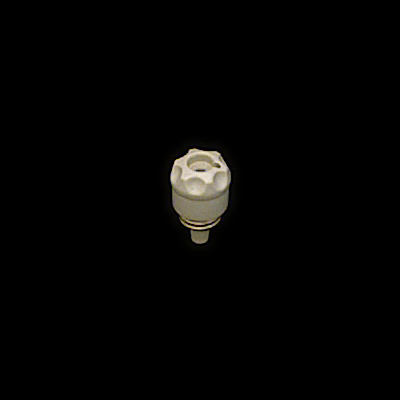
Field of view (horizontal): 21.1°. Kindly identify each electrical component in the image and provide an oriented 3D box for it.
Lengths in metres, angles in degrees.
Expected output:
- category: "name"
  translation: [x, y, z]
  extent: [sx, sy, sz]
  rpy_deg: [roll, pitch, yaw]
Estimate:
- category: "electrical component"
  translation: [0.000, 0.000, 0.637]
  extent: [0.035, 0.062, 0.035]
  rpy_deg: [1, 43, 0]
